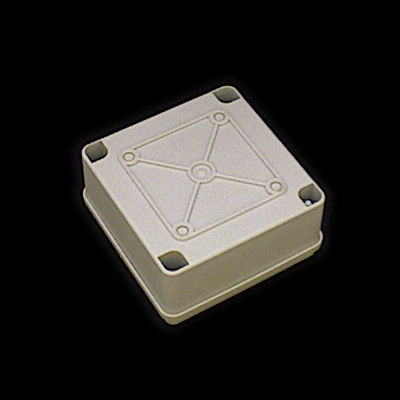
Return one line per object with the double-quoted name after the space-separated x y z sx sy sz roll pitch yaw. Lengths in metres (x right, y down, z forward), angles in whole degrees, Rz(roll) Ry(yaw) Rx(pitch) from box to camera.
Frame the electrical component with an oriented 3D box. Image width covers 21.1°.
0.000 0.000 0.630 0.109 0.108 0.056 -25 -33 -19 "electrical component"
